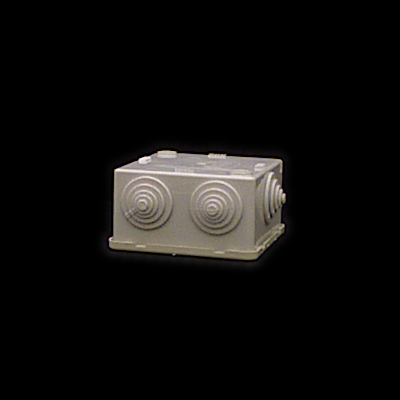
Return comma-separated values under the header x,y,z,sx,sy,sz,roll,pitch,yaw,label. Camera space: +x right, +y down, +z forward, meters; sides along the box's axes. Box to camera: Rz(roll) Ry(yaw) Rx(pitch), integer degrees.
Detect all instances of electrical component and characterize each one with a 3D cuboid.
x,y,z,sx,sy,sz,roll,pitch,yaw,label
0.000,0.000,0.645,0.099,0.049,0.099,4,11,15,electrical component
